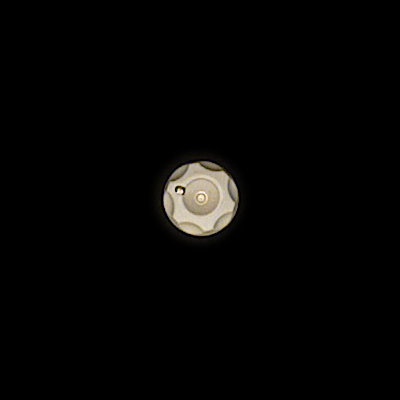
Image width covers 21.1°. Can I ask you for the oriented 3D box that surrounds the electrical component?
[{"bbox_3d":[0.000,0.000,0.635,0.043,0.043,0.062,0,-5,0],"label":"electrical component"}]
